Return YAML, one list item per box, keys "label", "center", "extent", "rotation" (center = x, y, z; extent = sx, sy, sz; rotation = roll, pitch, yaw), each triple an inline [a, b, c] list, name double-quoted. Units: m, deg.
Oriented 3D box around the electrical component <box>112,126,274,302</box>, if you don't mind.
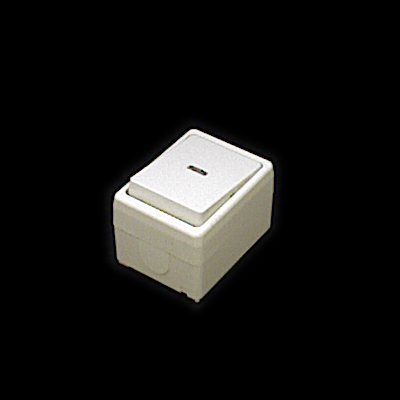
- label: "electrical component"
  center: [0.000, 0.000, 0.631]
  extent: [0.061, 0.061, 0.096]
  rotation: [25, 47, 25]
